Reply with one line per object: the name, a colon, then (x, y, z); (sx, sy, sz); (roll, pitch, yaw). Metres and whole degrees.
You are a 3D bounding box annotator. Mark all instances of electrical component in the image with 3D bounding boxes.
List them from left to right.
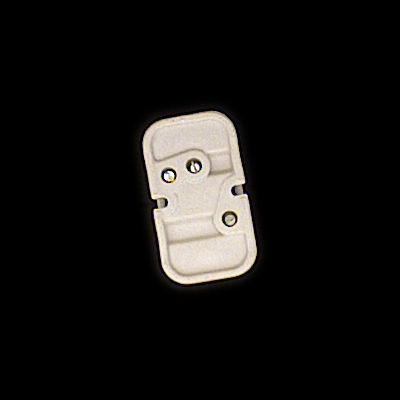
electrical component: (0.000, 0.000, 0.636); (0.054, 0.095, 0.059); (-10, -6, 0)
